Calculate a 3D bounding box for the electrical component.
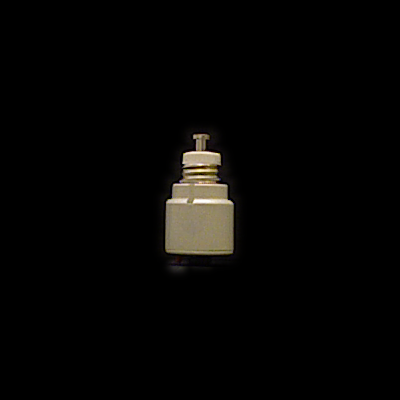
[{"bbox_3d":[0.000,0.000,0.651,0.040,0.078,0.040,1,2,0],"label":"electrical component"}]
